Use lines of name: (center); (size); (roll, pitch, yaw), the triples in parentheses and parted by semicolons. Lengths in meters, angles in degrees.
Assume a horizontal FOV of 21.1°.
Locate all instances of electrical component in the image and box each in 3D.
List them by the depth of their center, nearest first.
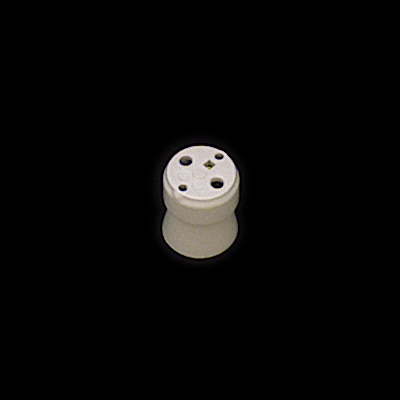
electrical component: (0.000, 0.000, 0.629); (0.045, 0.044, 0.055); (0, -37, 0)
